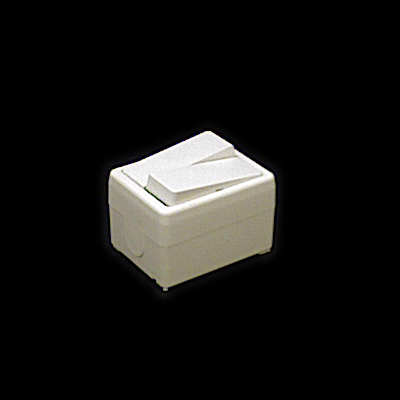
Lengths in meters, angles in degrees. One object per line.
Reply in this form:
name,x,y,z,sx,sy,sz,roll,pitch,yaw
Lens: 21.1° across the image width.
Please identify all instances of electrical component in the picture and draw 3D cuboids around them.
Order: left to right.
electrical component,0.000,0.000,0.636,0.096,0.061,0.061,-19,37,-29
